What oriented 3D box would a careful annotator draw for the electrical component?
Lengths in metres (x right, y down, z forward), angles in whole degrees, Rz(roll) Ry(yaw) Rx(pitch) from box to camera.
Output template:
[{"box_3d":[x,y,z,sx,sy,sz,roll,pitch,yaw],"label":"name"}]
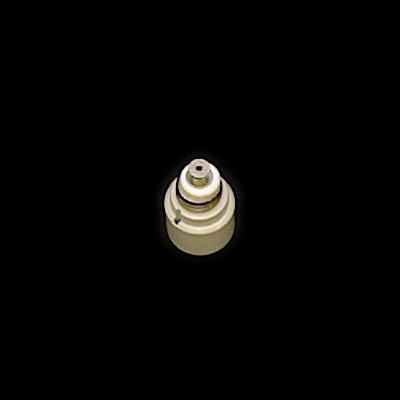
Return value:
[{"box_3d":[0.000,0.000,0.619,0.040,0.040,0.078,0,-26,0],"label":"electrical component"}]
